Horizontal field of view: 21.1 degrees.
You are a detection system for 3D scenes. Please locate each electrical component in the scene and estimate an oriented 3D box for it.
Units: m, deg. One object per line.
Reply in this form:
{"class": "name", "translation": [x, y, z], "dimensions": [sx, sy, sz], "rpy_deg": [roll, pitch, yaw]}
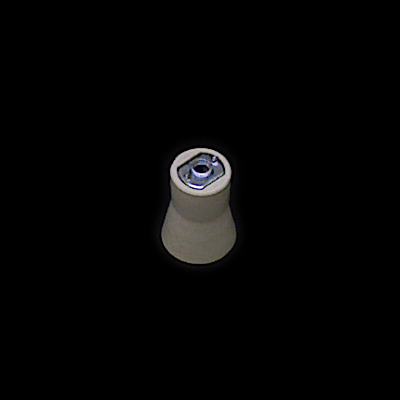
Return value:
{"class": "electrical component", "translation": [0.000, 0.000, 0.625], "dimensions": [0.044, 0.044, 0.065], "rpy_deg": [0, -37, -2]}
